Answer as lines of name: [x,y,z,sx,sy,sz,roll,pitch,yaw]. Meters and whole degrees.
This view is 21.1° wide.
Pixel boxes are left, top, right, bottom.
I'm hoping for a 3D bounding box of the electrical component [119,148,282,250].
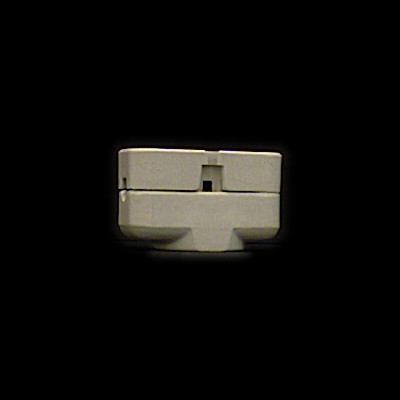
electrical component: [0.000,0.000,0.658,0.096,0.059,0.053,1,1,-18]
